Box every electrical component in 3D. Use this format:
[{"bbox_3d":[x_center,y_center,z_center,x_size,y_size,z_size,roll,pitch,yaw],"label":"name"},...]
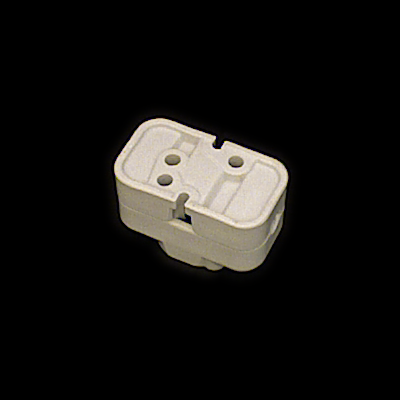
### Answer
[{"bbox_3d":[0.000,0.000,0.634,0.095,0.054,0.059,21,-34,14],"label":"electrical component"}]
